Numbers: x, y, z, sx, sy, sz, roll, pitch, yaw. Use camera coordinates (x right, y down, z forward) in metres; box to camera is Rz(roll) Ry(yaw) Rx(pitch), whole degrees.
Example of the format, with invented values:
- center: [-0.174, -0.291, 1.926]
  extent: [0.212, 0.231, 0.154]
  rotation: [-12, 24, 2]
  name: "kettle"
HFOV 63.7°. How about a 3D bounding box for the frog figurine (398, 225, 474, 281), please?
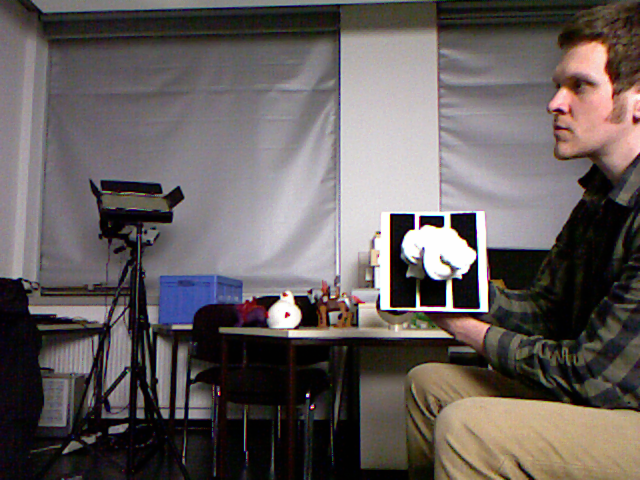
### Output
- center: [0.218, 0.020, 0.963]
  extent: [0.138, 0.124, 0.158]
  rotation: [20, -15, 8]
  name: "frog figurine"
